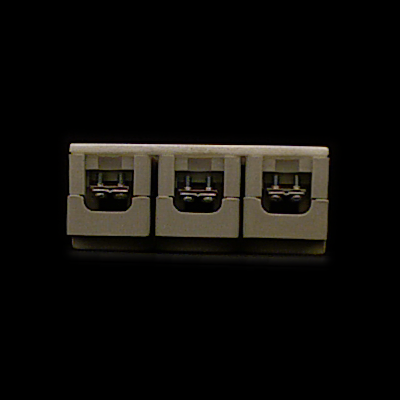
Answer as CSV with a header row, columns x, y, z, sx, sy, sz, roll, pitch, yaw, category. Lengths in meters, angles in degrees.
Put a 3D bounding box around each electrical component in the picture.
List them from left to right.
x,y,z,sx,sy,sz,roll,pitch,yaw,category
0.000,0.000,0.659,0.150,0.062,0.089,2,0,2,electrical component
